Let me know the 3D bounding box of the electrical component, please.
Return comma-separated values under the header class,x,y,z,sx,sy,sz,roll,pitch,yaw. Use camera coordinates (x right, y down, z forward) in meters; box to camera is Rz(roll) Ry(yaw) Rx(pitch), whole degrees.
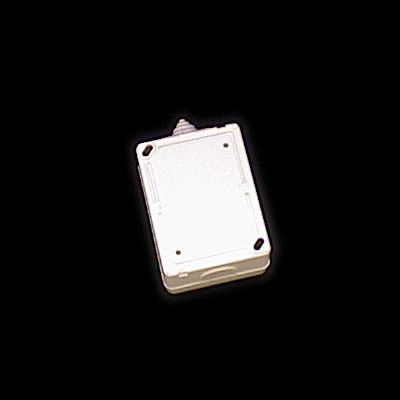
class,x,y,z,sx,sy,sz,roll,pitch,yaw
electrical component,0.000,0.000,0.629,0.062,0.096,0.060,-13,-17,-4
